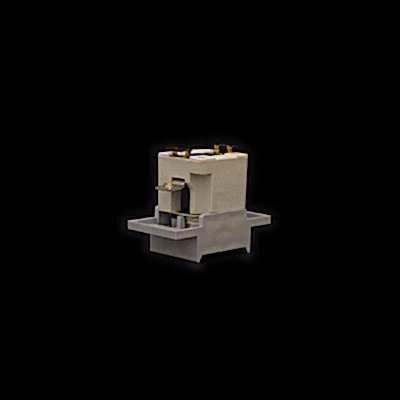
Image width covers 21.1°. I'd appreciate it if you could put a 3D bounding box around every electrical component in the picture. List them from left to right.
[{"bbox_3d":[0.000,0.000,0.645,0.042,0.064,0.081,12,15,43],"label":"electrical component"}]
